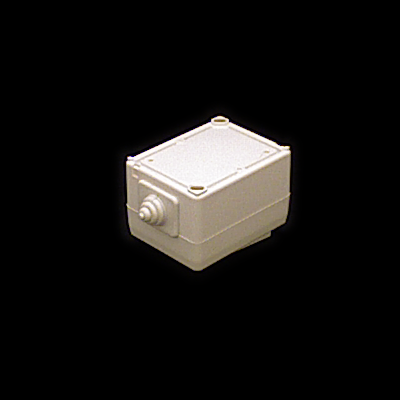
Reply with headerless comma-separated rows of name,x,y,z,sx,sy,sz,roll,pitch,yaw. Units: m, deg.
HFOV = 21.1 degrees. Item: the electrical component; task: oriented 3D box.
electrical component,0.000,0.000,0.635,0.096,0.061,0.061,-28,41,-37
